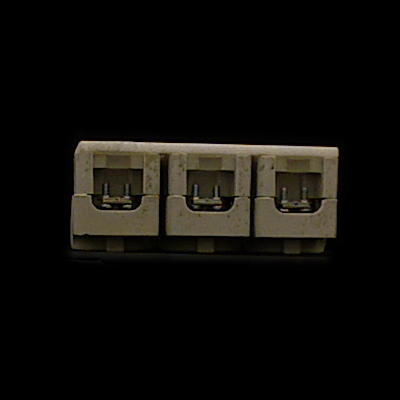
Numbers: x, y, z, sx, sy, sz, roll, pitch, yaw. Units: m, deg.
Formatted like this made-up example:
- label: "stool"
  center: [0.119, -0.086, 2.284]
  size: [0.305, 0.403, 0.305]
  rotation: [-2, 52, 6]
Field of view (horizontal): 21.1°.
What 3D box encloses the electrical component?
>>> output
- label: "electrical component"
  center: [0.000, 0.000, 0.654]
  size: [0.150, 0.062, 0.089]
  rotation: [1, -1, -8]
